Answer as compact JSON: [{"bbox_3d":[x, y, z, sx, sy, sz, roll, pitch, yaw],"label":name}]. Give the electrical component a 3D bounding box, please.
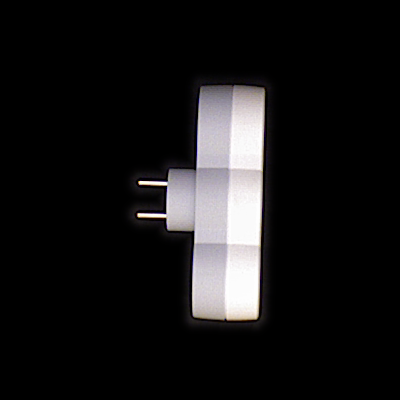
[{"bbox_3d":[0.000,0.000,0.631,0.074,0.138,0.052,2,-6,2],"label":"electrical component"}]
